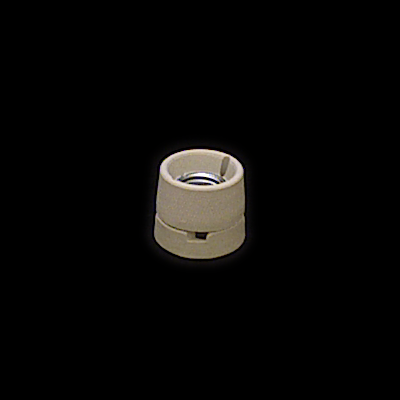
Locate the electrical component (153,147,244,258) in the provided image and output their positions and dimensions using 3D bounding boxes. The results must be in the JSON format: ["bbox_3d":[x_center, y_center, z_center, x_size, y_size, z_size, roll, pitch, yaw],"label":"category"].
[{"bbox_3d":[0.000,0.000,0.639,0.055,0.047,0.055,2,31,-1],"label":"electrical component"}]
